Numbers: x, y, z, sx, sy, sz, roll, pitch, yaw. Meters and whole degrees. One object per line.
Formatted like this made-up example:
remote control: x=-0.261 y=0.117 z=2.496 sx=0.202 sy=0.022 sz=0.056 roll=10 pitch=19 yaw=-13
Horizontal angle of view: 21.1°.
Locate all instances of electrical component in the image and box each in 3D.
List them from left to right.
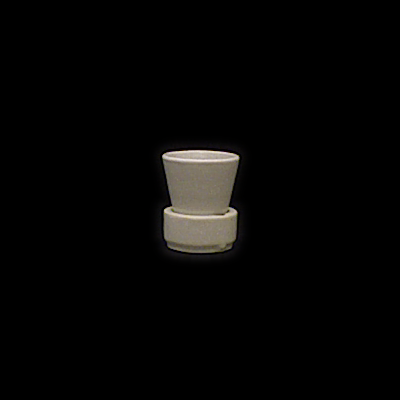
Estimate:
electrical component: x=0.000 y=0.000 z=0.642 sx=0.045 sy=0.055 sz=0.044 roll=0 pitch=11 yaw=0
